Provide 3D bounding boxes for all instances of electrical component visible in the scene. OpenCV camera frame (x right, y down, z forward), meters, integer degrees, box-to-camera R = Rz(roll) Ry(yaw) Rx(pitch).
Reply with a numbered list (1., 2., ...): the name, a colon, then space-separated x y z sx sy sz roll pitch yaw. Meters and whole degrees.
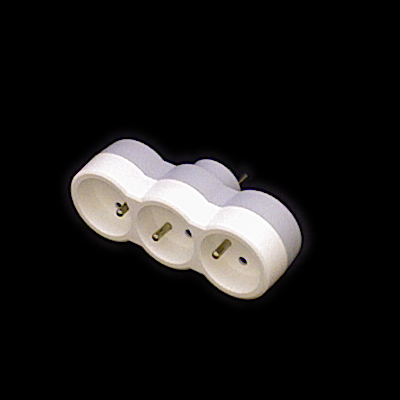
1. electrical component: 0.000 0.000 0.635 0.137 0.052 0.073 23 45 23
